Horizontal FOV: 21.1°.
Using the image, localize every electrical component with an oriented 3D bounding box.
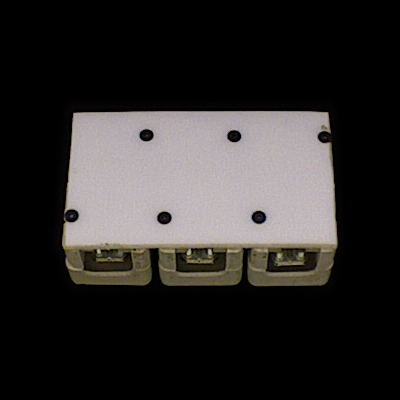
[{"bbox_3d":[0.000,0.000,0.630,0.150,0.089,0.062,0,-28,0],"label":"electrical component"}]
